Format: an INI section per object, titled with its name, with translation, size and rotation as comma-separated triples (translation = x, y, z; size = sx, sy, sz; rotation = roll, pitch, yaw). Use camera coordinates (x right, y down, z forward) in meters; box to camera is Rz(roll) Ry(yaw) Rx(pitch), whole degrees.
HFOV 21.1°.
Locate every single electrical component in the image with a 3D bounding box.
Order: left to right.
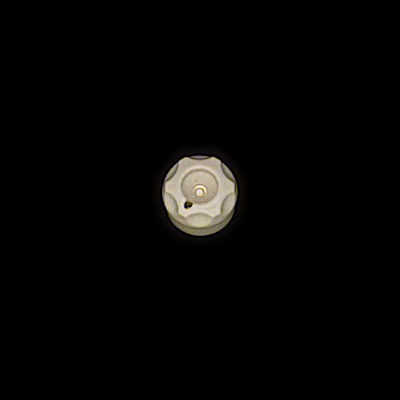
[electrical component]
translation = 0.000, 0.000, 0.634
size = 0.043, 0.043, 0.062
rotation = 0, -17, 0
